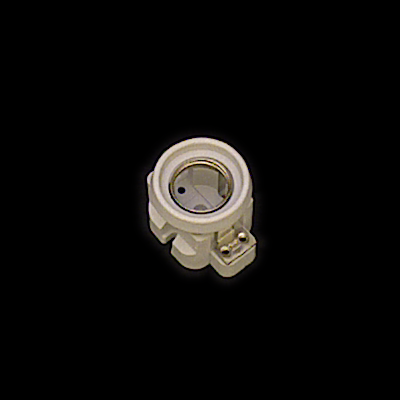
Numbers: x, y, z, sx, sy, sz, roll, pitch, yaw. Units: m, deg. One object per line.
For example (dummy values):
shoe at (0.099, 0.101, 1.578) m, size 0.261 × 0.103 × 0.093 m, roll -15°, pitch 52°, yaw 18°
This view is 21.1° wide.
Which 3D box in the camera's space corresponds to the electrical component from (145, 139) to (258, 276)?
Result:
electrical component at (0.000, 0.000, 0.628) m, size 0.058 × 0.078 × 0.057 m, roll -36°, pitch -21°, yaw -17°
